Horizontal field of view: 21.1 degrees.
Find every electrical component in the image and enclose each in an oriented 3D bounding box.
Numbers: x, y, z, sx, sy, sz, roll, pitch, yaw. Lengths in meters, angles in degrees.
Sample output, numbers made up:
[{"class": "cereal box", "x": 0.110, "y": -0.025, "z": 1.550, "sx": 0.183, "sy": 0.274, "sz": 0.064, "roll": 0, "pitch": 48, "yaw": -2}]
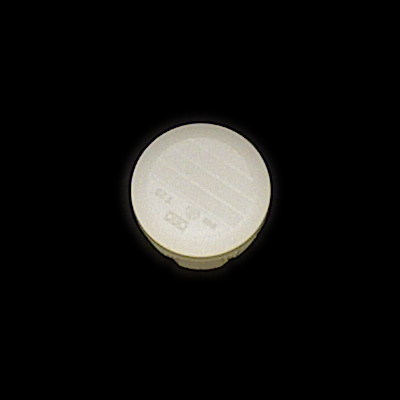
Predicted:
[{"class": "electrical component", "x": 0.000, "y": 0.000, "z": 0.630, "sx": 0.080, "sy": 0.080, "sz": 0.050, "roll": 0, "pitch": -17, "yaw": 0}]
